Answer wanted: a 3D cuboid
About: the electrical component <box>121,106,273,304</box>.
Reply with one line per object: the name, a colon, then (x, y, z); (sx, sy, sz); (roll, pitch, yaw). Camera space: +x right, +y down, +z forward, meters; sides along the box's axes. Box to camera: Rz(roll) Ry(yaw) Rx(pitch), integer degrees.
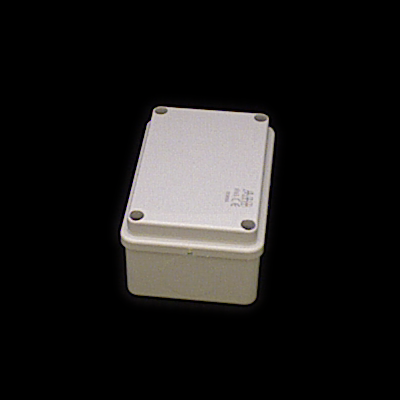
electrical component: (0.000, 0.000, 0.631); (0.078, 0.057, 0.112); (5, 42, 4)
